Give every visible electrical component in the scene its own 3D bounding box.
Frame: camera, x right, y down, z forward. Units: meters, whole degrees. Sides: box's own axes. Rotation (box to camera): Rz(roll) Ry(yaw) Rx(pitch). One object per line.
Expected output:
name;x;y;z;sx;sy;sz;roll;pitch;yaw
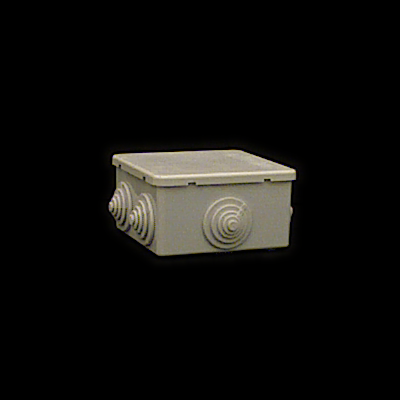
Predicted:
electrical component;0.000;0.000;0.652;0.100;0.049;0.098;-3;12;-21
